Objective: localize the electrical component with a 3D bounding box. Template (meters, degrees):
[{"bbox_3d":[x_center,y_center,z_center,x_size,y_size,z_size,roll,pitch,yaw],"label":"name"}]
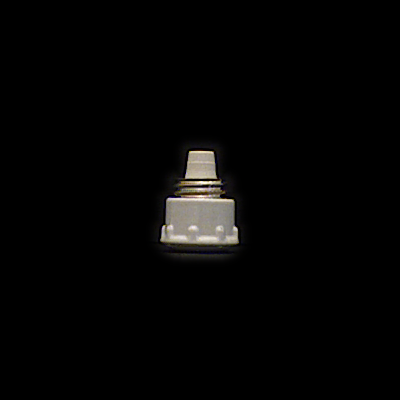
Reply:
[{"bbox_3d":[0.000,0.000,0.658,0.048,0.062,0.048,2,1,1],"label":"electrical component"}]
